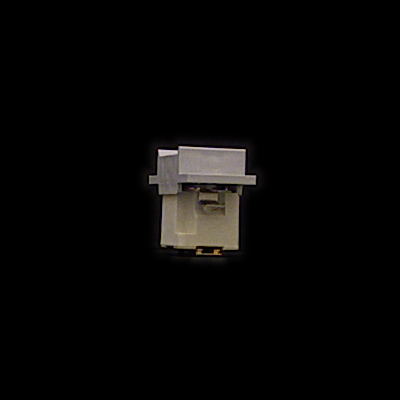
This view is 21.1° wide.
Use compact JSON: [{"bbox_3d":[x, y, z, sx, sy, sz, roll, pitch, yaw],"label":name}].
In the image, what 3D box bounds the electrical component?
[{"bbox_3d":[0.000,0.000,0.652,0.042,0.064,0.080,0,1,-18],"label":"electrical component"}]
